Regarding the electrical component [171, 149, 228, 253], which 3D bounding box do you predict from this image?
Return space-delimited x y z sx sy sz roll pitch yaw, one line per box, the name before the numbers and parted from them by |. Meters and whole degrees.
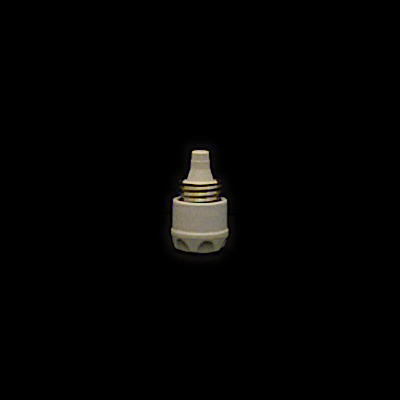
electrical component | 0.000 0.000 0.655 0.035 0.062 0.035 1 10 0
